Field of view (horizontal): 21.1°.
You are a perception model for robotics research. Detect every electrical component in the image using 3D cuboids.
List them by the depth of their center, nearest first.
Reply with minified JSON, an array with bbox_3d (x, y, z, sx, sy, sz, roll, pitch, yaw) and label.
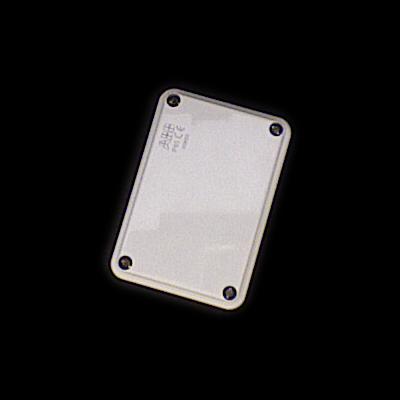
[{"bbox_3d":[0.000,0.000,0.628,0.078,0.113,0.057,16,-6,2],"label":"electrical component"}]
